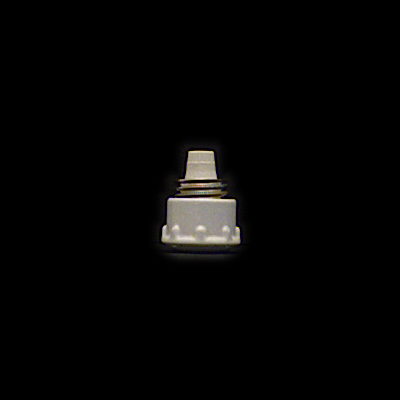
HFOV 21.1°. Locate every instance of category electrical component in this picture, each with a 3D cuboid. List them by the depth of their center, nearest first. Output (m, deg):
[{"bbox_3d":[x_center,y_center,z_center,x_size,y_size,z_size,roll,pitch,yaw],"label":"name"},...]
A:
[{"bbox_3d":[0.000,0.000,0.655,0.048,0.062,0.048,0,2,1],"label":"electrical component"}]
